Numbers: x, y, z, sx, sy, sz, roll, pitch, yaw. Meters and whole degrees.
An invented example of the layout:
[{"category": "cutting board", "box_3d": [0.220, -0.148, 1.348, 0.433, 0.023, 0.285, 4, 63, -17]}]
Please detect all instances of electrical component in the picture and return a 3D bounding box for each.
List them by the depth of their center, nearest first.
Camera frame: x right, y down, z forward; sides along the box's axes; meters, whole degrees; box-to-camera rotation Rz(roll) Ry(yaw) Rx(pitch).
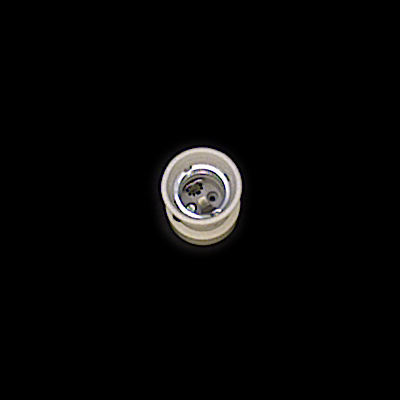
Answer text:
[{"category": "electrical component", "box_3d": [0.000, 0.000, 0.628, 0.045, 0.045, 0.055, 0, -17, 0]}]
